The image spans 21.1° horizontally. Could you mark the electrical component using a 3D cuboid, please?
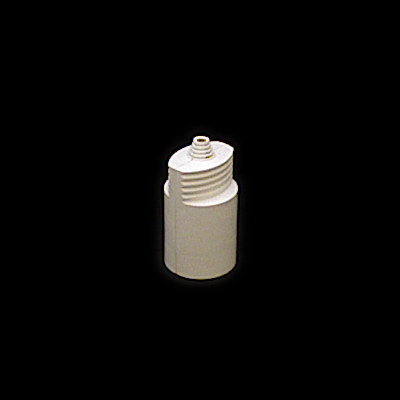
[{"bbox_3d":[0.000,0.000,0.629,0.043,0.082,0.042,1,31,0],"label":"electrical component"}]
